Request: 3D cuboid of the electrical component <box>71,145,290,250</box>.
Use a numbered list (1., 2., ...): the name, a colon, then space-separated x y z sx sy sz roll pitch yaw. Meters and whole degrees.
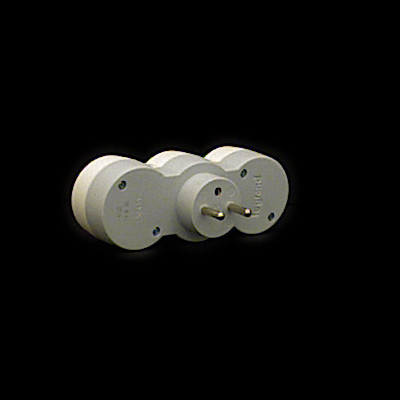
1. electrical component: 0.000 0.000 0.648 0.139 0.052 0.072 -6 15 -34
